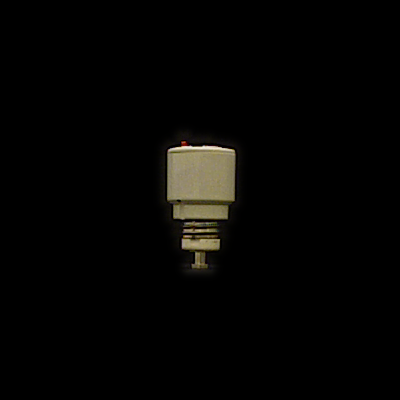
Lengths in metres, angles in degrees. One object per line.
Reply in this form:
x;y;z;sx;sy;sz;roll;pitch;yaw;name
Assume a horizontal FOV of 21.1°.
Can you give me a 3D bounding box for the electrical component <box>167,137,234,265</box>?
0.000;0.000;0.652;0.040;0.078;0.040;1;1;0;electrical component
